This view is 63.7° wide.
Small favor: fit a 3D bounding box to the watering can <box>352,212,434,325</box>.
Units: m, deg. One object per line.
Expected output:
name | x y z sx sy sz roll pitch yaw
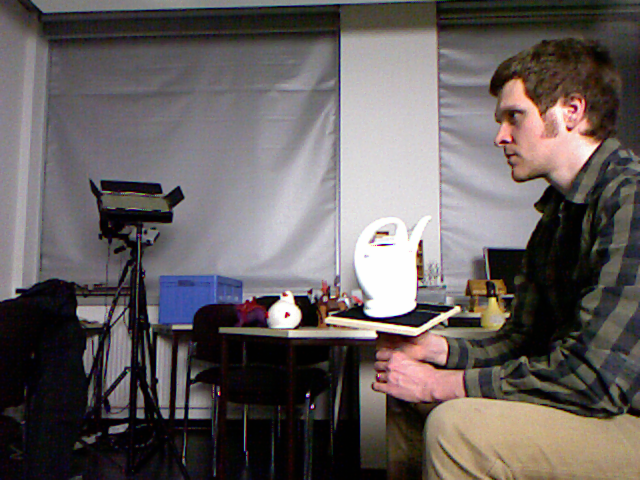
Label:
watering can | 0.167 0.052 1.086 0.104 0.223 0.350 5 11 35
